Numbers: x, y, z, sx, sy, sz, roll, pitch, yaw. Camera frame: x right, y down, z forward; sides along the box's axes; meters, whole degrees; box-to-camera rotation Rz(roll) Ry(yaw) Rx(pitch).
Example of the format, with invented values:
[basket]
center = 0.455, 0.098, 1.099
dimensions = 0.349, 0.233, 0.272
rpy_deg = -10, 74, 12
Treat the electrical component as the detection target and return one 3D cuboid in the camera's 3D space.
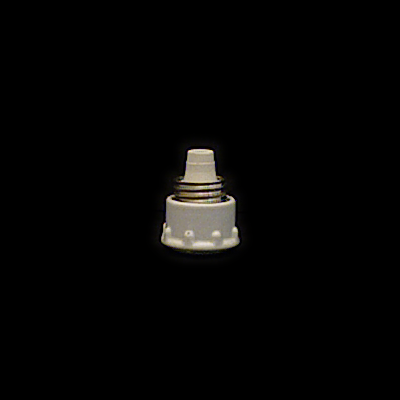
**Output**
[electrical component]
center = 0.000, 0.000, 0.651
dimensions = 0.048, 0.062, 0.048
rpy_deg = 1, 11, 0
